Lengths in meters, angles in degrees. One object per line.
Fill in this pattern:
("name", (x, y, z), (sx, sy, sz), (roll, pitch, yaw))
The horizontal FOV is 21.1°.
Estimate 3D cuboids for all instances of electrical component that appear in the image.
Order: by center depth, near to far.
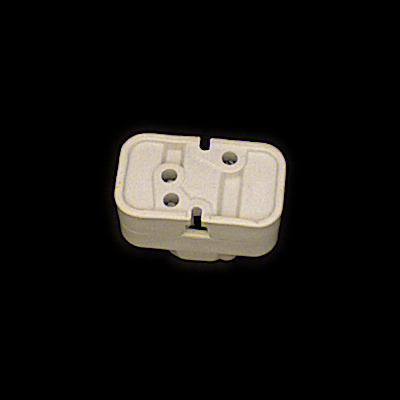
("electrical component", (0.000, 0.000, 0.634), (0.095, 0.054, 0.059), (5, -27, 2))
